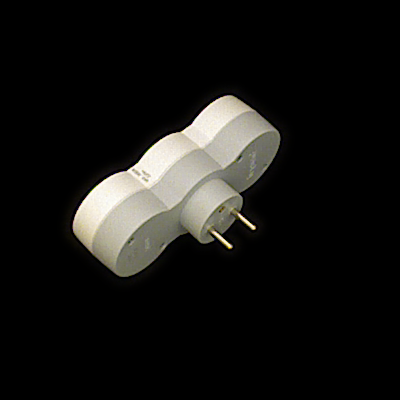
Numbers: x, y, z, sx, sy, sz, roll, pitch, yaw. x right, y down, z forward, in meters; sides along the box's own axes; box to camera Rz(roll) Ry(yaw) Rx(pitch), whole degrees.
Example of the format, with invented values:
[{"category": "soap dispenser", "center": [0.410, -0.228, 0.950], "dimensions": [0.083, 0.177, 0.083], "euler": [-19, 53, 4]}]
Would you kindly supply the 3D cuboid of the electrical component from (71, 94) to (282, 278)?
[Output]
[{"category": "electrical component", "center": [0.000, 0.000, 0.637], "dimensions": [0.139, 0.073, 0.052], "euler": [-37, -27, -25]}]
